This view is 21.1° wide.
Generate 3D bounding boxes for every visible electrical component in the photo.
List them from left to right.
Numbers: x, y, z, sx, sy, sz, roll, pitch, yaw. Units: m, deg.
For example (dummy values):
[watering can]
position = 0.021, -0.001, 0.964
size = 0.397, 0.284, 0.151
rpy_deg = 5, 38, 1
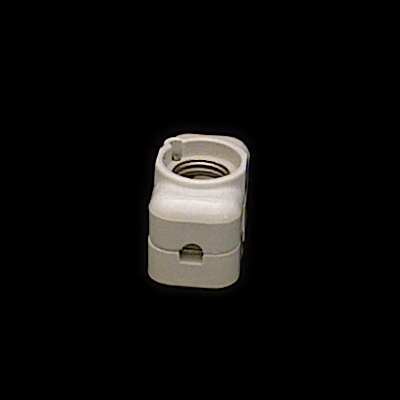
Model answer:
[electrical component]
position = 0.000, 0.000, 0.641
size = 0.053, 0.060, 0.094
rpy_deg = 4, 32, 4
